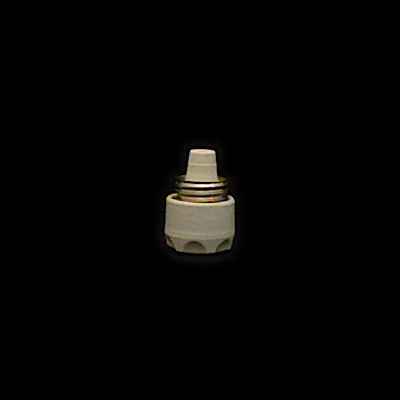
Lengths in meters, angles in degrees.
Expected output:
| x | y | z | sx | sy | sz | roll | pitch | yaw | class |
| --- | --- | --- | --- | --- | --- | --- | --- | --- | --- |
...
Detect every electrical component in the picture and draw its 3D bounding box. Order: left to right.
| x | y | z | sx | sy | sz | roll | pitch | yaw | class |
| --- | --- | --- | --- | --- | --- | --- | --- | --- | --- |
| 0.000 | 0.000 | 0.652 | 0.043 | 0.062 | 0.043 | 2 | 11 | 0 | electrical component |
